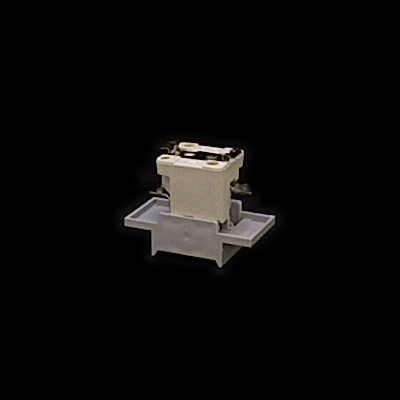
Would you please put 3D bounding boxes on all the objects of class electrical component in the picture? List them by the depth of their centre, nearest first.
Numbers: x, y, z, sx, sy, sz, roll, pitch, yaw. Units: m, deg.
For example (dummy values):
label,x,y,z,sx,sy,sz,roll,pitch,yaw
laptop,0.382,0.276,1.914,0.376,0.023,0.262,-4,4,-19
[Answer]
label,x,y,z,sx,sy,sz,roll,pitch,yaw
electrical component,0.000,0.000,0.638,0.080,0.064,0.042,9,23,20
